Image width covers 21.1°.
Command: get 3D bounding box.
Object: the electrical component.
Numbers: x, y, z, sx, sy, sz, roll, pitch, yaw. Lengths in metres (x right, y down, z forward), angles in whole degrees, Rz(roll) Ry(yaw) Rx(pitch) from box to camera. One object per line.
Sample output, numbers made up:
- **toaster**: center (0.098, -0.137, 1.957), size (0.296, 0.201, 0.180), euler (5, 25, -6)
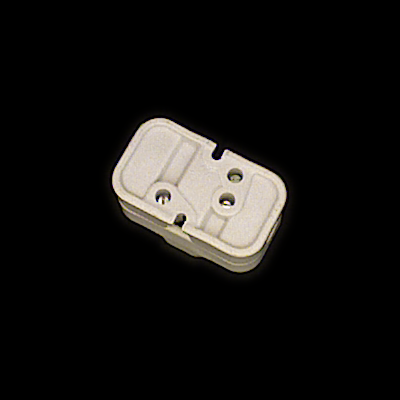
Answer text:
- **electrical component**: center (0.000, 0.000, 0.636), size (0.095, 0.054, 0.059), euler (27, -14, 8)
